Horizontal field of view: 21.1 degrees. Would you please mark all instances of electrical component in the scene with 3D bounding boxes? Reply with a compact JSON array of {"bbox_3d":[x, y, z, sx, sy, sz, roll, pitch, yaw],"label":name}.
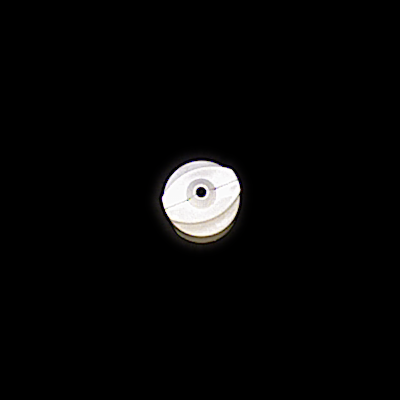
[{"bbox_3d":[0.000,0.000,0.616,0.043,0.043,0.080,0,-6,1],"label":"electrical component"}]
